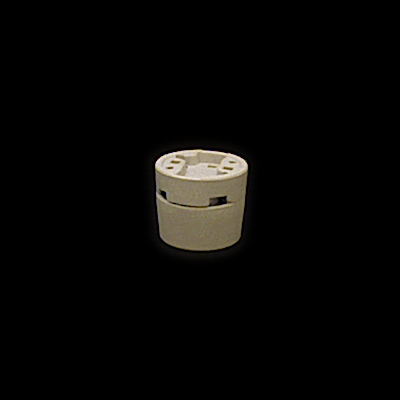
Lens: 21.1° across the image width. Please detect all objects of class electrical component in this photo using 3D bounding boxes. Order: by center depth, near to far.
[{"bbox_3d":[0.000,0.000,0.643,0.055,0.047,0.055,1,22,0],"label":"electrical component"}]
